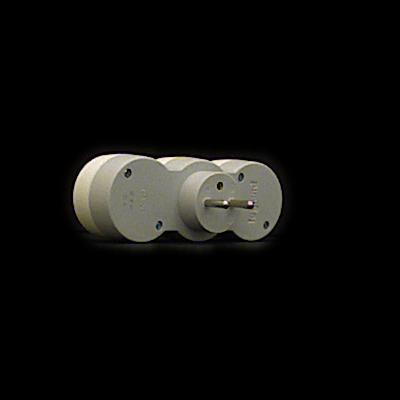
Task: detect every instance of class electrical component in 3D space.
[{"bbox_3d":[0.000,0.000,0.653,0.139,0.052,0.073,1,2,-40],"label":"electrical component"}]
